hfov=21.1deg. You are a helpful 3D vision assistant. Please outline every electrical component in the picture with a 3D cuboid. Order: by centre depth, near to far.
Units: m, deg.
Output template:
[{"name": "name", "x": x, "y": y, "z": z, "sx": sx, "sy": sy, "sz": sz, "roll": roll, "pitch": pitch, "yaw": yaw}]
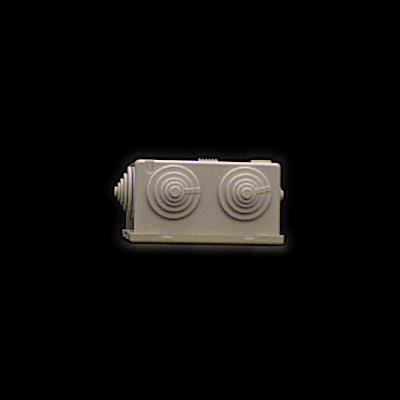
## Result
[{"name": "electrical component", "x": 0.000, "y": 0.000, "z": 0.649, "sx": 0.100, "sy": 0.048, "sz": 0.099, "roll": 1, "pitch": 0, "yaw": -8}]
